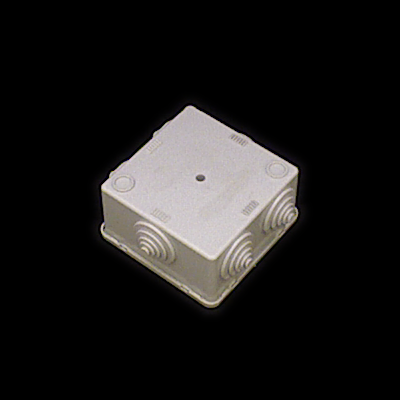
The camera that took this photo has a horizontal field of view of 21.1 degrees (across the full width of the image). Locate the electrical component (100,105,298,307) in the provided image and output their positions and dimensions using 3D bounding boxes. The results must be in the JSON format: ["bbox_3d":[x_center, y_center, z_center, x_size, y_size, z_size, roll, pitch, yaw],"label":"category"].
[{"bbox_3d":[0.000,0.000,0.633,0.099,0.100,0.049,32,-31,21],"label":"electrical component"}]
